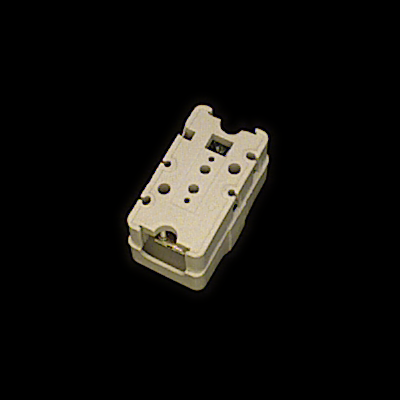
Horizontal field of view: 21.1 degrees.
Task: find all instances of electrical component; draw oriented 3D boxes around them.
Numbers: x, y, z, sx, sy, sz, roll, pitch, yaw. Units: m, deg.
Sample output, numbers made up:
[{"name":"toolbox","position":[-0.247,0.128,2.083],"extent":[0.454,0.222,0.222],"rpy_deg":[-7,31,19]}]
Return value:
[{"name":"electrical component","position":[0.000,0.000,0.636],"extent":[0.050,0.090,0.055],"rpy_deg":[25,-25,13]}]
